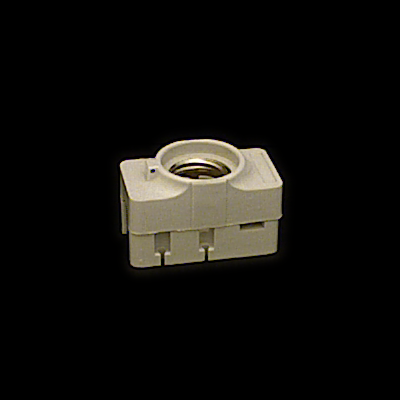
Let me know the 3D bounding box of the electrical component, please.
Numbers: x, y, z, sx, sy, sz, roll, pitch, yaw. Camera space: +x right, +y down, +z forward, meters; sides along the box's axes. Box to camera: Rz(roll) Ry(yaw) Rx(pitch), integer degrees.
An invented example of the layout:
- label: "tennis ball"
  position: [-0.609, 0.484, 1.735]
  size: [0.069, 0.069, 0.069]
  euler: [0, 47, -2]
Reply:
- label: "electrical component"
  position: [0.000, 0.000, 0.643]
  size: [0.090, 0.056, 0.049]
  euler: [-6, 33, -12]
